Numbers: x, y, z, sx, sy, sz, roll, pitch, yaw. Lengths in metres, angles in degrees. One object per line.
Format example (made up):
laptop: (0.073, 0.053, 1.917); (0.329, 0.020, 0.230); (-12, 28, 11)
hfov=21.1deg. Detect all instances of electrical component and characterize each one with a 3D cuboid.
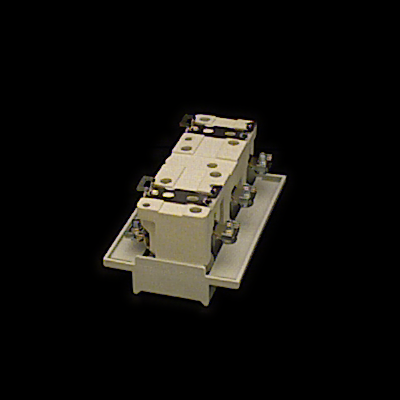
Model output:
electrical component: (0.000, 0.000, 0.641); (0.078, 0.064, 0.120); (9, 33, 13)
